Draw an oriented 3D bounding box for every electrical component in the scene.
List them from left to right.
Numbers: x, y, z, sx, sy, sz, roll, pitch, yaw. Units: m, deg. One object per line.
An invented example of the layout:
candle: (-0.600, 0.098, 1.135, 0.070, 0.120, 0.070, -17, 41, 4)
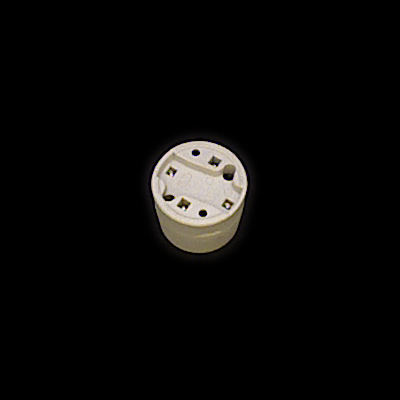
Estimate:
electrical component: (0.000, 0.000, 0.634, 0.055, 0.056, 0.047, 0, -27, 0)
